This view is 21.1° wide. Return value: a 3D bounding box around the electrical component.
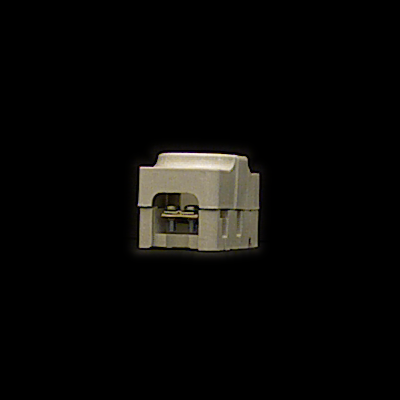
[{"bbox_3d":[0.000,0.000,0.657,0.050,0.056,0.090,2,1,19],"label":"electrical component"}]
